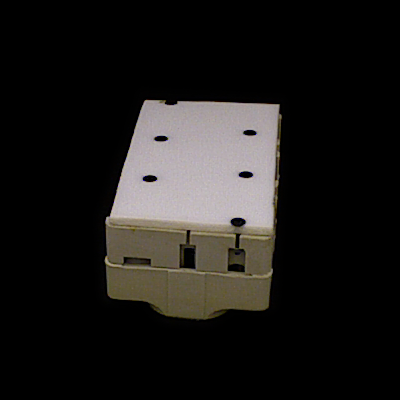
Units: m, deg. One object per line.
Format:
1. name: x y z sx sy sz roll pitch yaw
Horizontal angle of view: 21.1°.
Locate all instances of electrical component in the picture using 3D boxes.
1. electrical component: 0.000 0.000 0.638 0.089 0.063 0.147 3 31 5
